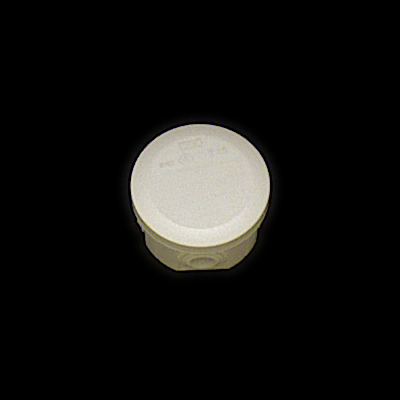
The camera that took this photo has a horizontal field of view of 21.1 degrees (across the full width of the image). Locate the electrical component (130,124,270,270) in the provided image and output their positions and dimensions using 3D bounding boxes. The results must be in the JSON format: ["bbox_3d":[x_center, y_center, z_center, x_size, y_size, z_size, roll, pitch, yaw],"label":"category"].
[{"bbox_3d":[0.000,0.000,0.630,0.080,0.080,0.050,0,-27,-1],"label":"electrical component"}]
